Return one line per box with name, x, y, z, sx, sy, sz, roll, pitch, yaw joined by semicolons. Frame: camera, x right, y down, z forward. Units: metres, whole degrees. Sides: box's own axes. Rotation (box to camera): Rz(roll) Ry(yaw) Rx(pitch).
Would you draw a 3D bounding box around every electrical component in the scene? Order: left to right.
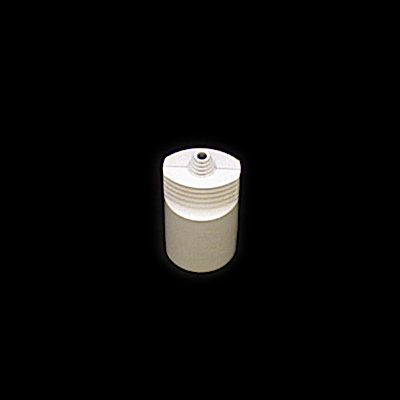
electrical component;0.000;0.000;0.619;0.043;0.043;0.081;0;-38;0
